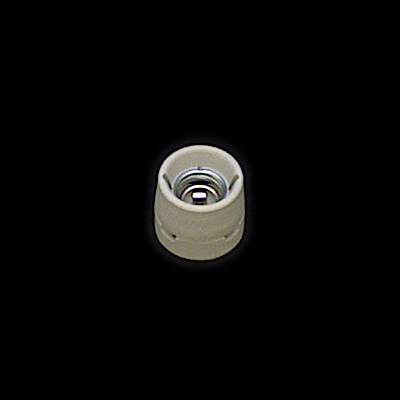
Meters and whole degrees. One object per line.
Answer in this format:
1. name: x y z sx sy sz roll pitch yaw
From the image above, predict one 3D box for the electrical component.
1. electrical component: 0.000 0.000 0.634 0.055 0.055 0.047 0 -37 -2
